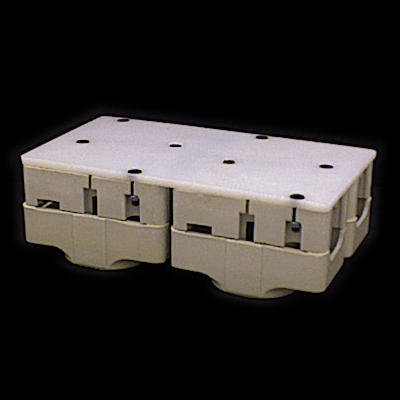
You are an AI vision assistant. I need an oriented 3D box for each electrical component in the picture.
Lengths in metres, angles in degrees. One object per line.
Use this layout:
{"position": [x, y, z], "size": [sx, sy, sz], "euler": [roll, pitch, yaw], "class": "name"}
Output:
{"position": [0.000, 0.000, 0.638], "size": [0.185, 0.061, 0.104], "euler": [9, 22, 20], "class": "electrical component"}
